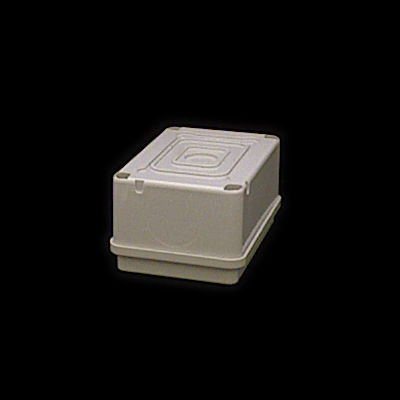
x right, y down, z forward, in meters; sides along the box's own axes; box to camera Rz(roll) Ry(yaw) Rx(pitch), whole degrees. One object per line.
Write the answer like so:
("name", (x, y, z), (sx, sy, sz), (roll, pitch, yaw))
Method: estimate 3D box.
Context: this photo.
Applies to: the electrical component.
("electrical component", (0.000, 0.000, 0.640), (0.078, 0.058, 0.112), (7, 21, 14))
